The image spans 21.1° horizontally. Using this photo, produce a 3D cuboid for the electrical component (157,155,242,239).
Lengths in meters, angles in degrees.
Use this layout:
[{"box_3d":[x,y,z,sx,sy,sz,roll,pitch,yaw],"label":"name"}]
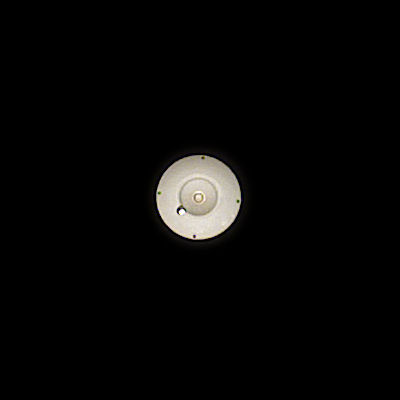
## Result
[{"box_3d":[0.000,0.000,0.634,0.048,0.048,0.061,0,-6,1],"label":"electrical component"}]
